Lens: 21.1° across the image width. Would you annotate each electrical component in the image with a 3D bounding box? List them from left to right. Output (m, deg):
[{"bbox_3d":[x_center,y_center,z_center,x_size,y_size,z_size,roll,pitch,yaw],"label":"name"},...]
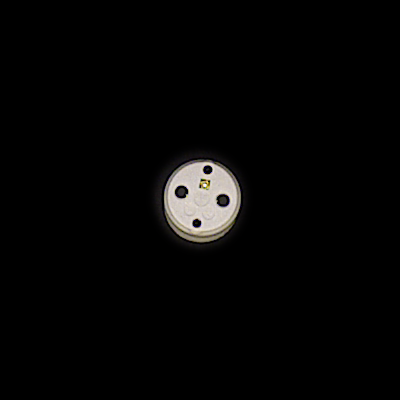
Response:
[{"bbox_3d":[0.000,0.000,0.630,0.045,0.045,0.055,0,-6,0],"label":"electrical component"}]
